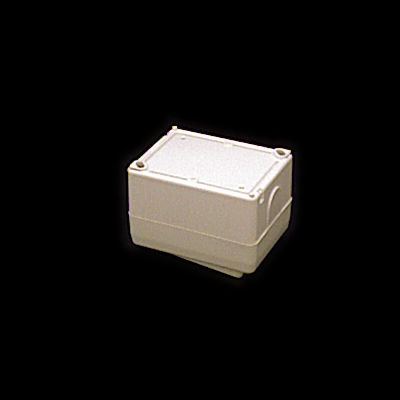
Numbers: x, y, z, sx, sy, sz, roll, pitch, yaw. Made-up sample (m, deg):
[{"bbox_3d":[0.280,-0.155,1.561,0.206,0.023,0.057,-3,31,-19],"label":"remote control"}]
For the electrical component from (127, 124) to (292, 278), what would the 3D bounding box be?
[{"bbox_3d":[0.000,0.000,0.637,0.096,0.061,0.061,13,34,21],"label":"electrical component"}]
